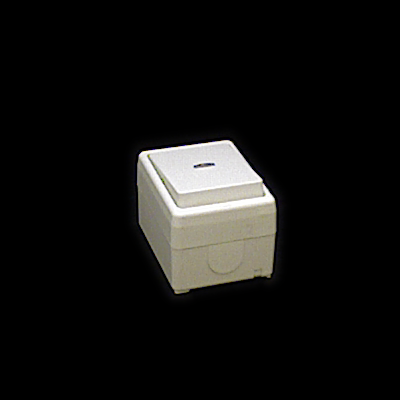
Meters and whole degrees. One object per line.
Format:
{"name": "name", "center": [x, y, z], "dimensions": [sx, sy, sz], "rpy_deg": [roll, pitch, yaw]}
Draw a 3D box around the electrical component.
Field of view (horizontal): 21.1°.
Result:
{"name": "electrical component", "center": [0.000, 0.000, 0.636], "dimensions": [0.062, 0.062, 0.095], "rpy_deg": [-9, 32, -16]}
